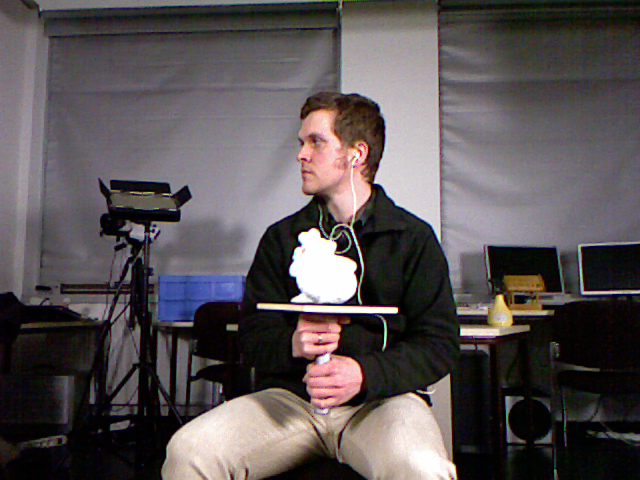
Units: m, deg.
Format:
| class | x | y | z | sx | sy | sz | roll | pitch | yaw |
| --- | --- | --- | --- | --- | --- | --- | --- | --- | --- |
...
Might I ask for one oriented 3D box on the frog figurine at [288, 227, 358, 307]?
| class | x | y | z | sx | sy | sz | roll | pitch | yaw |
| --- | --- | --- | --- | --- | --- | --- | --- | --- | --- |
| frog figurine | 0.005 | 0.054 | 1.018 | 0.137 | 0.160 | 0.122 | -1 | -2 | -7 |
